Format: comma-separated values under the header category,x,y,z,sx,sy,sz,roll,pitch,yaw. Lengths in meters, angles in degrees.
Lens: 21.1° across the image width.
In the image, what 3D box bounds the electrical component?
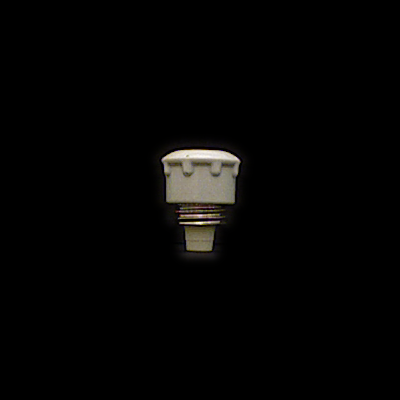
category,x,y,z,sx,sy,sz,roll,pitch,yaw
electrical component,0.000,0.000,0.654,0.048,0.062,0.048,1,1,0
